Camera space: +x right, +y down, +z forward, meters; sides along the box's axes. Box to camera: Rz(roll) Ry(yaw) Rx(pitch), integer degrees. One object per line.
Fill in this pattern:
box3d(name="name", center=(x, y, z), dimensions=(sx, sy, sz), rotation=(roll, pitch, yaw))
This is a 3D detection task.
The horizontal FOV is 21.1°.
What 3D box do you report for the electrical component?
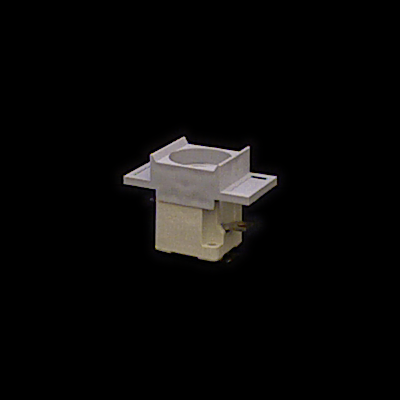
box3d(name="electrical component", center=(0.000, 0.000, 0.637), dimensions=(0.080, 0.064, 0.042), rotation=(11, 22, 25))
